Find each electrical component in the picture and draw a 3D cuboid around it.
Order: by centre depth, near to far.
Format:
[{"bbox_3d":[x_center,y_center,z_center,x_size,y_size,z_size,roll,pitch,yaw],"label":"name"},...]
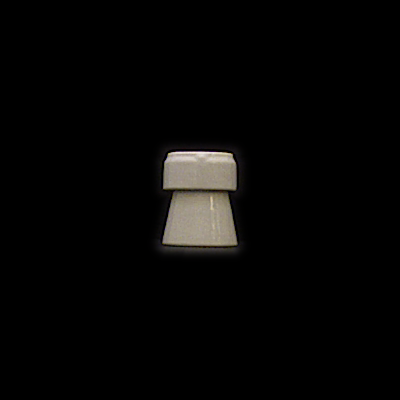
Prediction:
[{"bbox_3d":[0.000,0.000,0.649,0.045,0.055,0.045,1,0,0],"label":"electrical component"}]
